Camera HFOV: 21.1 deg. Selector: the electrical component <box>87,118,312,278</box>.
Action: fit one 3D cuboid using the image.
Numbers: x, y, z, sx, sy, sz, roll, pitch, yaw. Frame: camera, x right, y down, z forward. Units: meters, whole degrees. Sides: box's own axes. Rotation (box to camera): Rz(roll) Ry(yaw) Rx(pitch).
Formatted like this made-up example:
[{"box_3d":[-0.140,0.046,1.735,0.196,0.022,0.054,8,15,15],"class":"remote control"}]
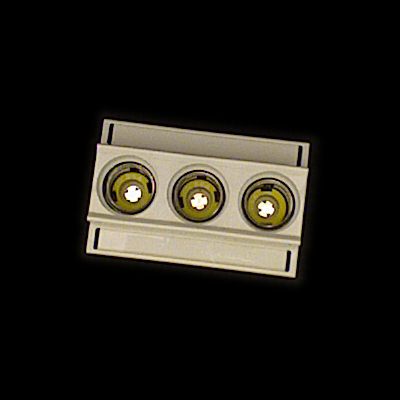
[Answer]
[{"box_3d":[0.000,0.000,0.638,0.121,0.079,0.063,7,-7,1],"class":"electrical component"}]
